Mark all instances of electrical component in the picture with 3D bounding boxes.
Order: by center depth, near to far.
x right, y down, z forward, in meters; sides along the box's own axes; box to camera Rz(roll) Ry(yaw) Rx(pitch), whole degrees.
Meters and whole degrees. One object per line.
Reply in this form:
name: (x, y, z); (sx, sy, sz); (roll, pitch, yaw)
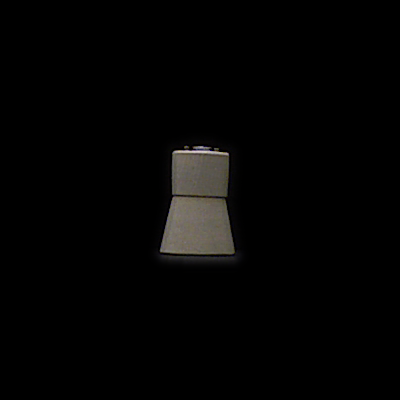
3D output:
electrical component: (0.000, 0.000, 0.648); (0.044, 0.065, 0.044); (2, 2, 0)
